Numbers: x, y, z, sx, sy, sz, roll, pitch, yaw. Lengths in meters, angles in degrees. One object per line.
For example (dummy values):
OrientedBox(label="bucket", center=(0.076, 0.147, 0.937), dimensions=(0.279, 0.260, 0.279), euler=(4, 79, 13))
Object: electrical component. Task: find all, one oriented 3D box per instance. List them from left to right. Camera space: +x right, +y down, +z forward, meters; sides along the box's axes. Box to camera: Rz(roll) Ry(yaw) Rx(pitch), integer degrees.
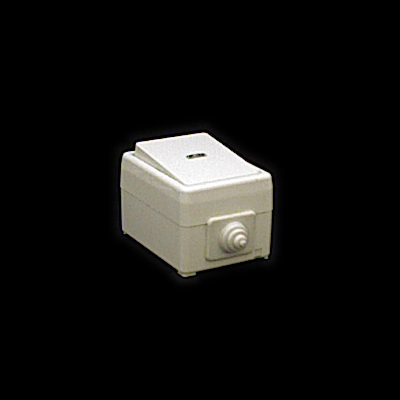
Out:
OrientedBox(label="electrical component", center=(0.000, 0.000, 0.637), dimensions=(0.061, 0.061, 0.095), euler=(-11, 24, -29))
